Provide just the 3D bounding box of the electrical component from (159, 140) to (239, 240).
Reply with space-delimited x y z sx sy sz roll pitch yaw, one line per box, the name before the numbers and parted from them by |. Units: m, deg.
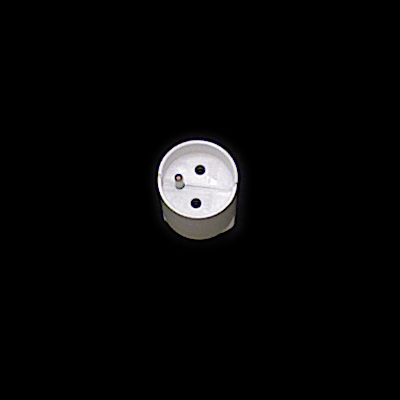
electrical component | 0.000 0.000 0.615 0.043 0.043 0.080 0 -17 1
